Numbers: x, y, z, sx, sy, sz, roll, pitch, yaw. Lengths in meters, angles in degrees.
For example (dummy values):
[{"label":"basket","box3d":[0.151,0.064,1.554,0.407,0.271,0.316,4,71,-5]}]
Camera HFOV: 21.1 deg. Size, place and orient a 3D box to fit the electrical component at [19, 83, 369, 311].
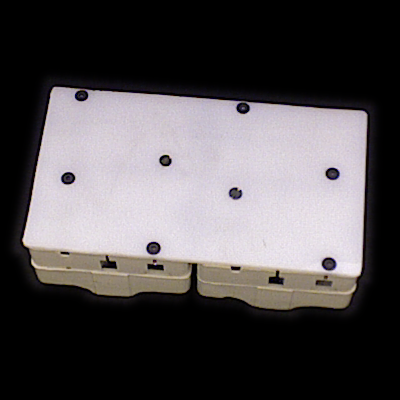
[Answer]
[{"label":"electrical component","box3d":[0.000,0.000,0.626,0.186,0.105,0.060,5,-27,2]}]
